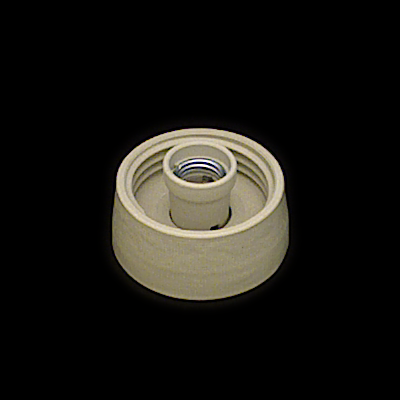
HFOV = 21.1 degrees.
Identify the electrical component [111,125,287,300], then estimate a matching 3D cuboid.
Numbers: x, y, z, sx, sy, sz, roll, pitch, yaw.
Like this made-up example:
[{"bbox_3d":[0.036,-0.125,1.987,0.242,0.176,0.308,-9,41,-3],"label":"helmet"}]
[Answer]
[{"bbox_3d":[0.000,0.000,0.637,0.108,0.061,0.107,1,43,0],"label":"electrical component"}]
